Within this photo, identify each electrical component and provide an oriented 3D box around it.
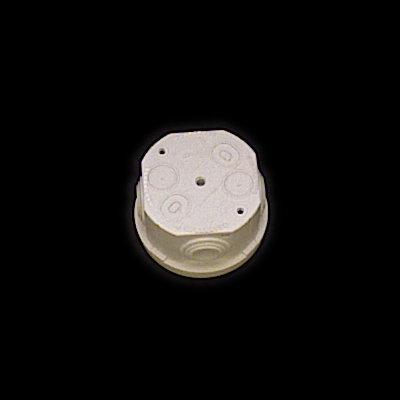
[{"bbox_3d":[0.000,0.000,0.632,0.080,0.080,0.050,0,-28,1],"label":"electrical component"}]
